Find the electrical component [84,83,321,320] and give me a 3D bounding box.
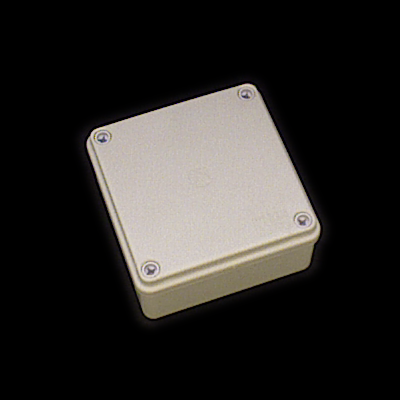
[{"bbox_3d":[0.000,0.000,0.630,0.109,0.108,0.056,-17,-27,-9],"label":"electrical component"}]
